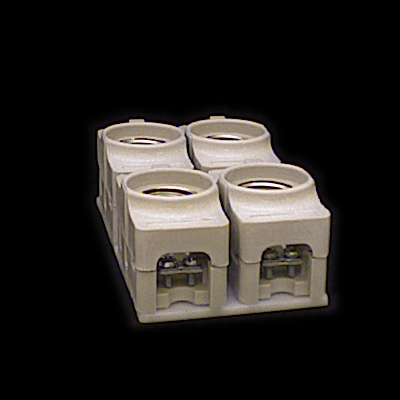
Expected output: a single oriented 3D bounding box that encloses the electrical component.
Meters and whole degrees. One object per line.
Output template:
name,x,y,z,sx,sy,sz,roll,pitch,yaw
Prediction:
electrical component,0.000,0.000,0.638,0.106,0.061,0.183,-3,21,-12
